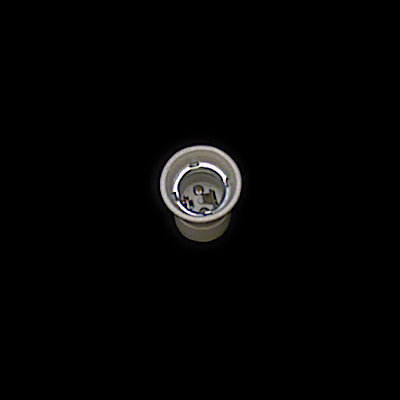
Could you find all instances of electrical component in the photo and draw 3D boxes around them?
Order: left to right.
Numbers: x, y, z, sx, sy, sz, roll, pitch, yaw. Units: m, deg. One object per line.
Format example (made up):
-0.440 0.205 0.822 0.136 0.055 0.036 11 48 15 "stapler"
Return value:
0.000 0.000 0.625 0.044 0.044 0.065 0 -18 1 "electrical component"
